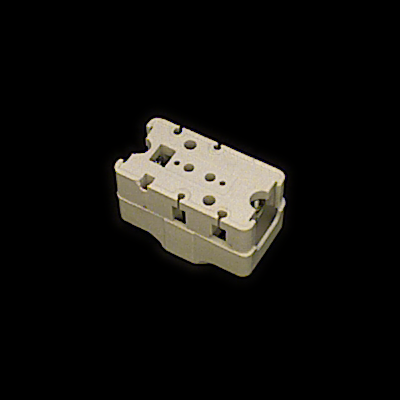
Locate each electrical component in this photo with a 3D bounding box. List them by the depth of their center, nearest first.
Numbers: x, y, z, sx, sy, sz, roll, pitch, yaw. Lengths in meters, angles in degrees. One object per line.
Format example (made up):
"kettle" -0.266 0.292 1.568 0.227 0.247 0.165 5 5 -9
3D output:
"electrical component" 0.000 0.000 0.637 0.089 0.050 0.056 25 -32 18
